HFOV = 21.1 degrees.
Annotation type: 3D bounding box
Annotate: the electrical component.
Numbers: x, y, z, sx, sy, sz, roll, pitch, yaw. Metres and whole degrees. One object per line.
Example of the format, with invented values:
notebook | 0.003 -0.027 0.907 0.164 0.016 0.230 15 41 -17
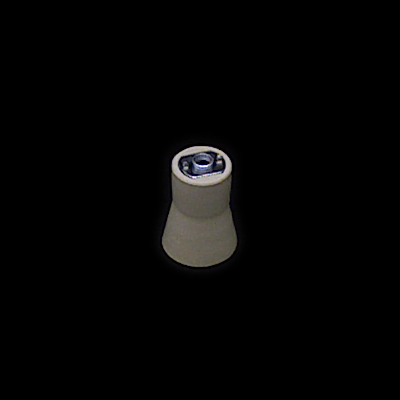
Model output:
electrical component | 0.000 0.000 0.628 0.044 0.066 0.044 1 42 -1
